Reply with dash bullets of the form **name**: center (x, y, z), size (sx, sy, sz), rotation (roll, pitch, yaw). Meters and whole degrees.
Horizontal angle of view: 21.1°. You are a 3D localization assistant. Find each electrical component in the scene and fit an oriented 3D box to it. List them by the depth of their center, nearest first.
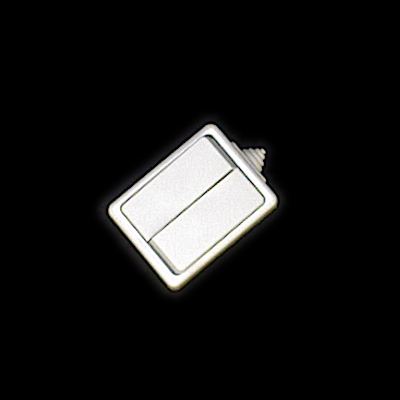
- **electrical component**: center (0.000, 0.000, 0.627), size (0.096, 0.062, 0.061), rotation (-40, -5, -4)
